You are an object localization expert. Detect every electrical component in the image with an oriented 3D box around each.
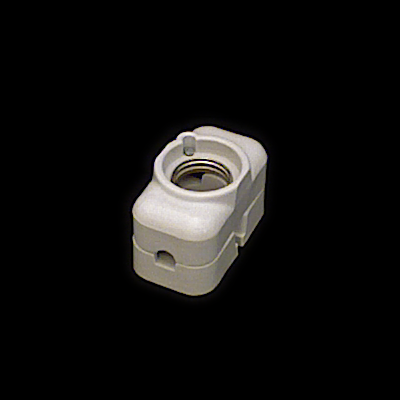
[{"bbox_3d":[0.000,0.000,0.638,0.053,0.060,0.095,18,45,18],"label":"electrical component"}]
